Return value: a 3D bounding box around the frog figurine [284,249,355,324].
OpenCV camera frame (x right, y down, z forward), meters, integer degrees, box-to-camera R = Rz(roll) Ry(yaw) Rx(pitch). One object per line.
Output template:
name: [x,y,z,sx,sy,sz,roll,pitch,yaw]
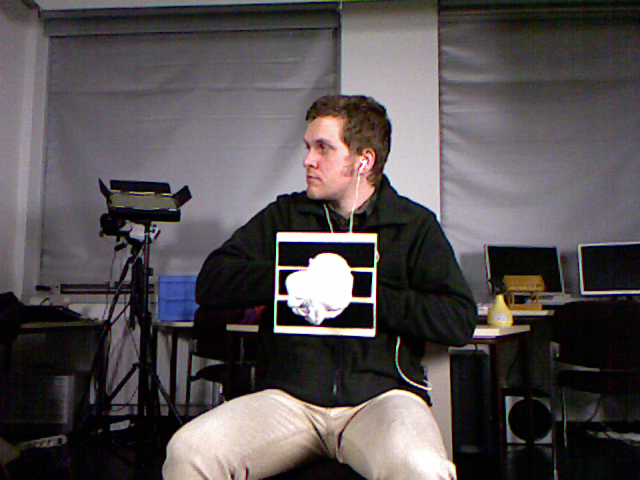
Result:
frog figurine: [0.001,0.086,0.953,0.123,0.137,0.160,25,4,8]
